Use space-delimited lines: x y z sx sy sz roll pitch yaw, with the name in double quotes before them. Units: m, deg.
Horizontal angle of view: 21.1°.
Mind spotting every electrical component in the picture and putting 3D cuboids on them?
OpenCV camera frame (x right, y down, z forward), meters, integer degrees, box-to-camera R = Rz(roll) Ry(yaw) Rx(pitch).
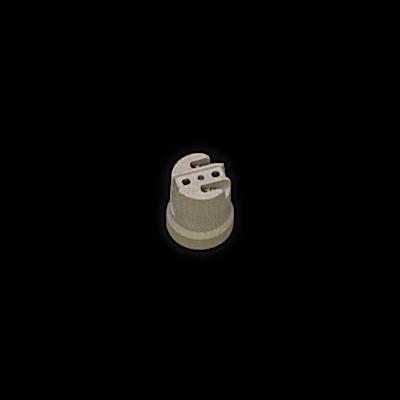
"electrical component" 0.000 0.000 0.633 0.040 0.040 0.046 0 -37 0
